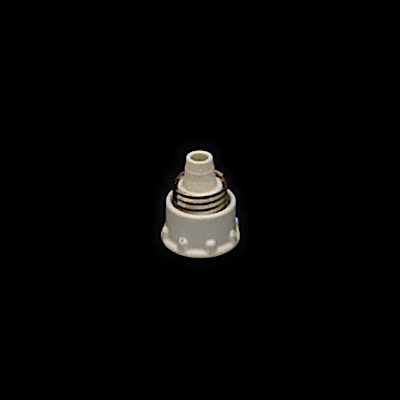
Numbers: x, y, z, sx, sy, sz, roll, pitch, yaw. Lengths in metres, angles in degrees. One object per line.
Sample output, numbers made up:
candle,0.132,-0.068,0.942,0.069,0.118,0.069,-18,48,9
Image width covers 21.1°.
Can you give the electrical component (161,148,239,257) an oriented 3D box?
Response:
electrical component,0.000,0.000,0.639,0.048,0.063,0.047,0,32,1
